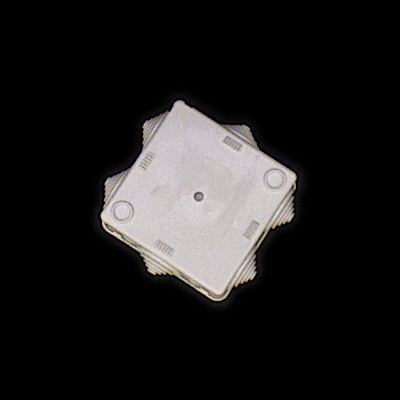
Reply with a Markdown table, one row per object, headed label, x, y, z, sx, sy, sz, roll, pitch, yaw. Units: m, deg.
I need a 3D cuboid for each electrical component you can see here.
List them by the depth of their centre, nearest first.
| label | x | y | z | sx | sy | sz | roll | pitch | yaw |
| --- | --- | --- | --- | --- | --- | --- | --- | --- | --- |
| electrical component | 0.000 | 0.000 | 0.633 | 0.100 | 0.100 | 0.048 | 33 | -6 | 3 |
